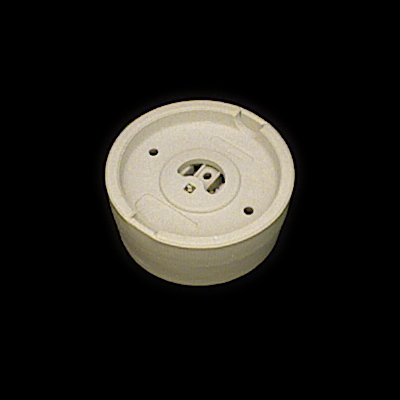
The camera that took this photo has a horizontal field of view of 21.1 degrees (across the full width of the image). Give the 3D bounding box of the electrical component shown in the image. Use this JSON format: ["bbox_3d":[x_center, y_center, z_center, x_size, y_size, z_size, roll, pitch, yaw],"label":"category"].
[{"bbox_3d":[0.000,0.000,0.633,0.108,0.107,0.060,0,-37,-1],"label":"electrical component"}]
